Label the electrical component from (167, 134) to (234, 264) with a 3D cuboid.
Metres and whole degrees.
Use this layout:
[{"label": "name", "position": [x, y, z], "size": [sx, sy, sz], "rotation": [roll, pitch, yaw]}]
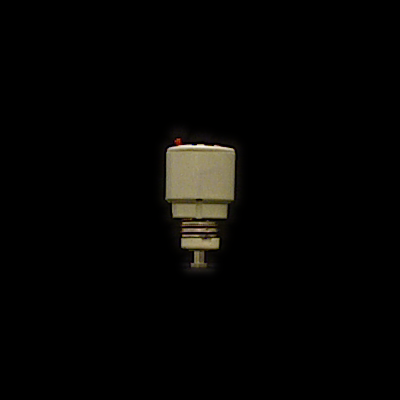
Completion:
[{"label": "electrical component", "position": [0.000, 0.000, 0.650], "size": [0.040, 0.078, 0.040], "rotation": [1, 1, 0]}]
